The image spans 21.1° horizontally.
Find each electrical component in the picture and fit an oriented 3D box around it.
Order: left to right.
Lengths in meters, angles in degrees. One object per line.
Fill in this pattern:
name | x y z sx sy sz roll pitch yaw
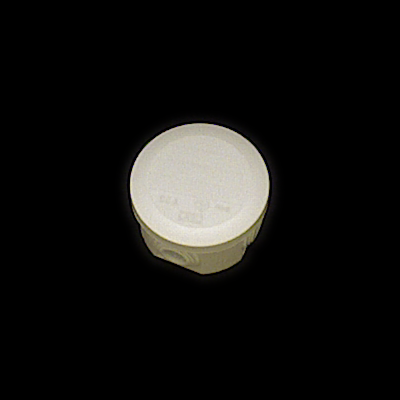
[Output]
electrical component | 0.000 0.000 0.630 0.080 0.080 0.050 0 -27 0
